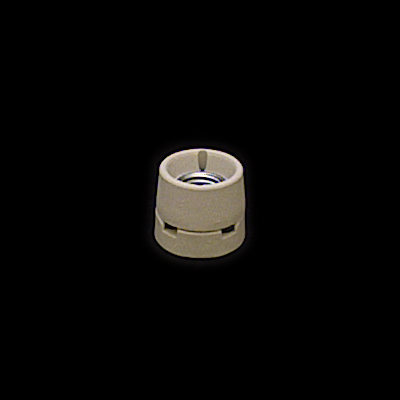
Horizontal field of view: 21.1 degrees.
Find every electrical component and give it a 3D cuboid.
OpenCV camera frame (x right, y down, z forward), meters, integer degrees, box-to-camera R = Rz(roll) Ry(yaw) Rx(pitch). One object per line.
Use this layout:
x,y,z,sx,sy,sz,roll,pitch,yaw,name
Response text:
0.000,0.000,0.639,0.055,0.047,0.055,1,30,0,electrical component
